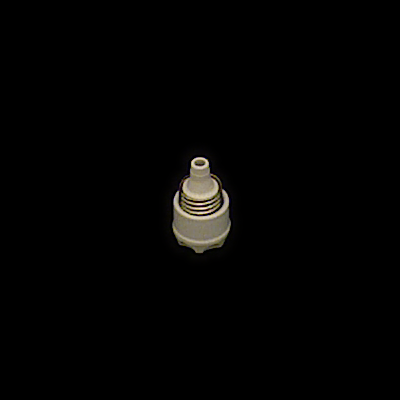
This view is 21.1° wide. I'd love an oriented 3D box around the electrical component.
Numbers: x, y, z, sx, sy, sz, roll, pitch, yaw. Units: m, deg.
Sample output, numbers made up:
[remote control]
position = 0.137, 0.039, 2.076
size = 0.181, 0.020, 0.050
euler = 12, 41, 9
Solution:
[electrical component]
position = 0.000, 0.000, 0.642
size = 0.035, 0.062, 0.035
euler = -1, 42, 1
